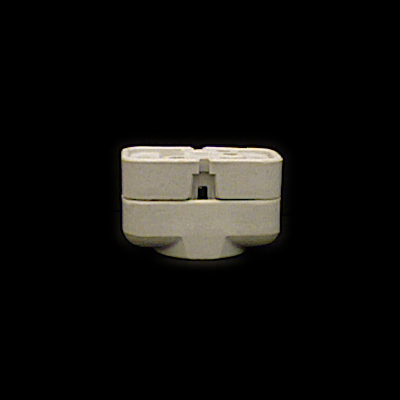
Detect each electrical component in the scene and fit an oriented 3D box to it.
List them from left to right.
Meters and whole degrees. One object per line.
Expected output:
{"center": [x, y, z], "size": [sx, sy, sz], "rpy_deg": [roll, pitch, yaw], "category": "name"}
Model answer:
{"center": [0.000, 0.000, 0.653], "size": [0.095, 0.060, 0.053], "rpy_deg": [0, 12, -5], "category": "electrical component"}
